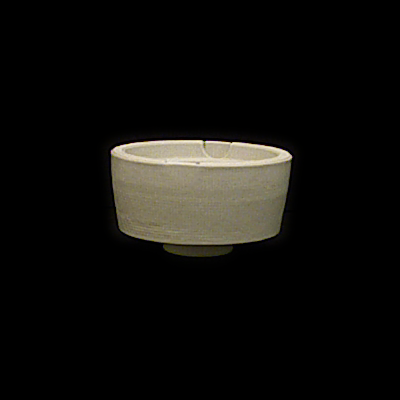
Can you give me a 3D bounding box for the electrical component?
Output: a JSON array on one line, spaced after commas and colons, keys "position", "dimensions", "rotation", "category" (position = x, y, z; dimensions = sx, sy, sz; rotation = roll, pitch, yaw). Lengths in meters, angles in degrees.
[{"position": [0.000, 0.000, 0.647], "dimensions": [0.108, 0.061, 0.107], "rotation": [1, 10, 0], "category": "electrical component"}]
